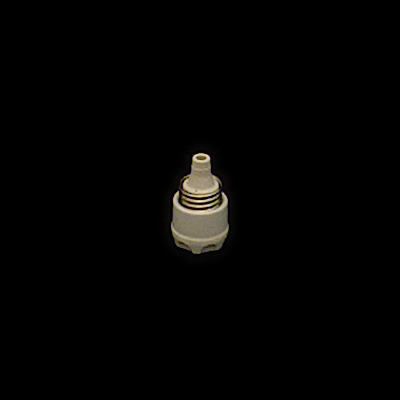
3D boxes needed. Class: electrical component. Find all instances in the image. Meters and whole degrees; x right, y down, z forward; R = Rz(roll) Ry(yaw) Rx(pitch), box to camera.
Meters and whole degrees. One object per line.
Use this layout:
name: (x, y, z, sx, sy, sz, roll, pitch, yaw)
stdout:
electrical component: (0.000, 0.000, 0.648, 0.035, 0.062, 0.034, 1, 34, 0)
